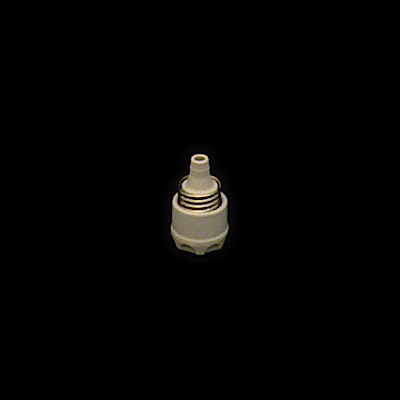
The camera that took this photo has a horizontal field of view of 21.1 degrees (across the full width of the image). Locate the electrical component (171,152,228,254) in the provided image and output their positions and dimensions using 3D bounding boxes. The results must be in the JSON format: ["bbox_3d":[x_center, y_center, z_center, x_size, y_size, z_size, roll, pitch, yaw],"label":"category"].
[{"bbox_3d":[0.000,0.000,0.647,0.035,0.062,0.034,0,34,0],"label":"electrical component"}]
